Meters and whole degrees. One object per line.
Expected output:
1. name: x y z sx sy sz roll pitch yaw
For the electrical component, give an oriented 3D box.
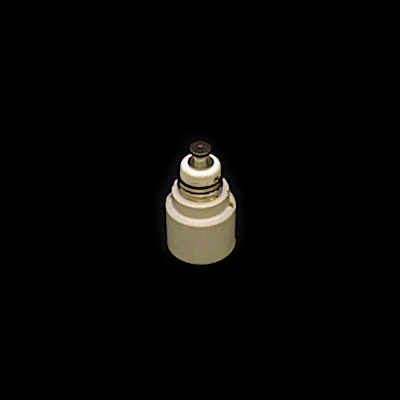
1. electrical component: 0.000 0.000 0.624 0.040 0.079 0.039 0 42 0
